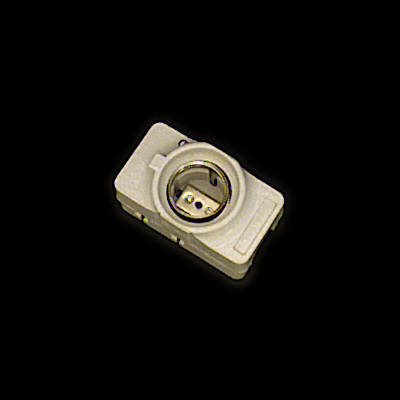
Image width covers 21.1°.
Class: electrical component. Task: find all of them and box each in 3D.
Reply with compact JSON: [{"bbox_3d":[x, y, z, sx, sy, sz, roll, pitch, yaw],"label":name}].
[{"bbox_3d":[0.000,0.000,0.636,0.089,0.050,0.055,31,-14,8],"label":"electrical component"}]
